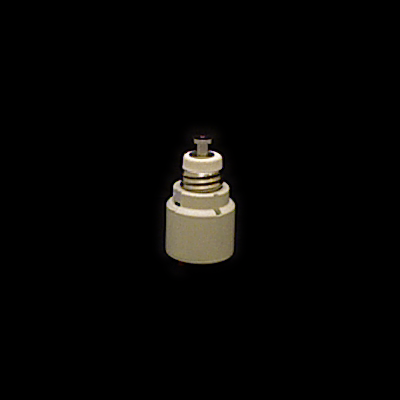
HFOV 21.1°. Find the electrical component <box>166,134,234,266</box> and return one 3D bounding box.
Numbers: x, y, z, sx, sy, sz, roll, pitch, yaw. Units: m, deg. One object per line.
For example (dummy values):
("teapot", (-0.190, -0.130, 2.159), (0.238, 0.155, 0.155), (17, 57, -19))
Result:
("electrical component", (0.000, 0.000, 0.637), (0.040, 0.079, 0.039), (2, 22, 0))
